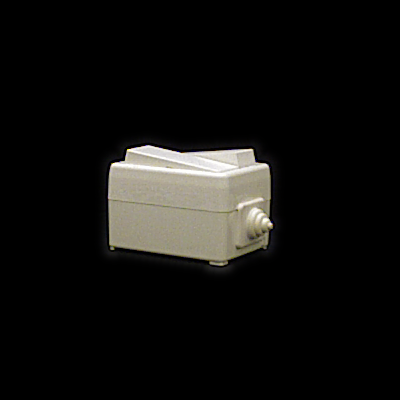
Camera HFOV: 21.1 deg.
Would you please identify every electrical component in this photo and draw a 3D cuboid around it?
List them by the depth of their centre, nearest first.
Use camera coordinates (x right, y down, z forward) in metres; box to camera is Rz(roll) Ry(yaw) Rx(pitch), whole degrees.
[{"bbox_3d":[0.000,0.000,0.643,0.096,0.061,0.061,7,12,29],"label":"electrical component"}]
